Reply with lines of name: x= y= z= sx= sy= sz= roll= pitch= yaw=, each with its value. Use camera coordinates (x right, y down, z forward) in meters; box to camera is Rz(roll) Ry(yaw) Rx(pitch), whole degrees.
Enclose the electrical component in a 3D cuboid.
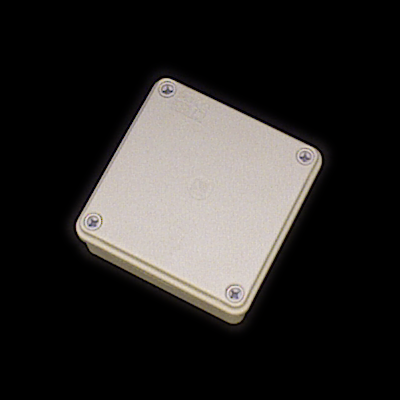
electrical component: x=0.000 y=0.000 z=0.629 sx=0.109 sy=0.109 sz=0.056 roll=26 pitch=-15 yaw=7
